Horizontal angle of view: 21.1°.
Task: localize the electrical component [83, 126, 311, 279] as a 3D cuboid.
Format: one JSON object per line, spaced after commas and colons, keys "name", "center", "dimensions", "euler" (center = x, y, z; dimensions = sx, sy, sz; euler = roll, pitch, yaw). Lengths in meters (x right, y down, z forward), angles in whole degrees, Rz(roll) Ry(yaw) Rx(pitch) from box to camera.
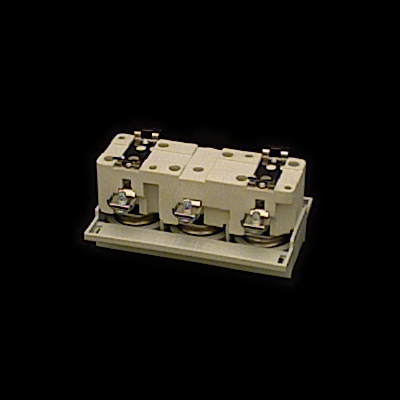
{"name": "electrical component", "center": [0.000, 0.000, 0.644], "dimensions": [0.121, 0.064, 0.078], "euler": [9, 32, 12]}
